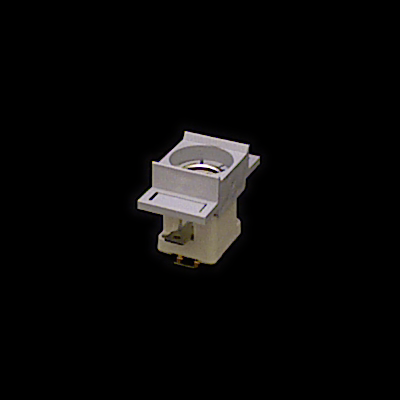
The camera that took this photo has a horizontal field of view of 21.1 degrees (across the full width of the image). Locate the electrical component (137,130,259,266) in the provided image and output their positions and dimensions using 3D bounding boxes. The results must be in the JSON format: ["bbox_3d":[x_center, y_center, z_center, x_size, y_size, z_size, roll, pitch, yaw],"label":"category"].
[{"bbox_3d":[0.000,0.000,0.630,0.042,0.064,0.080,15,34,20],"label":"electrical component"}]
